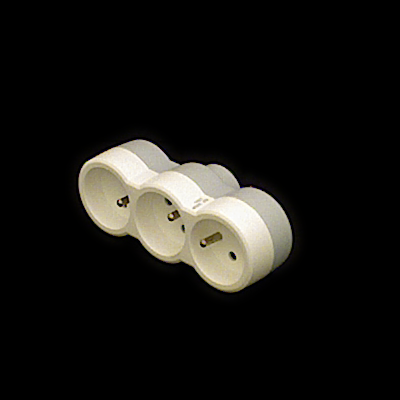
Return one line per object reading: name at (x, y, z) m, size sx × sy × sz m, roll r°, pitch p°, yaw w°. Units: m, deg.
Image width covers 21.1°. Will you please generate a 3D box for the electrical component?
electrical component at (0.000, 0.000, 0.645) m, size 0.136 × 0.053 × 0.074 m, roll 25°, pitch 38°, yaw 33°
